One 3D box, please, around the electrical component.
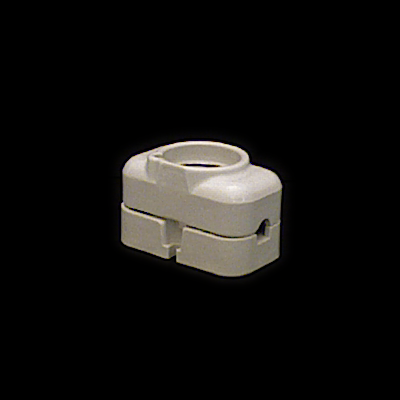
[{"bbox_3d":[0.000,0.000,0.644,0.094,0.060,0.054,16,26,34],"label":"electrical component"}]
